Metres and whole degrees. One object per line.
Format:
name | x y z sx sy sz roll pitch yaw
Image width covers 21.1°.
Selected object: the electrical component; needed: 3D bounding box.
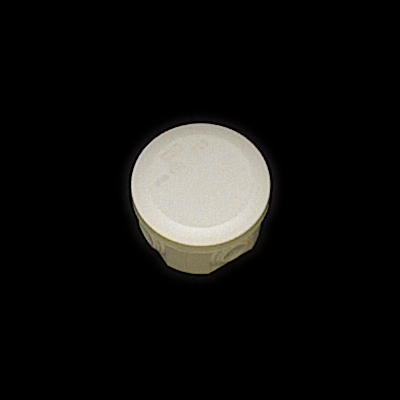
electrical component | 0.000 0.000 0.631 0.080 0.080 0.050 0 -27 -1
